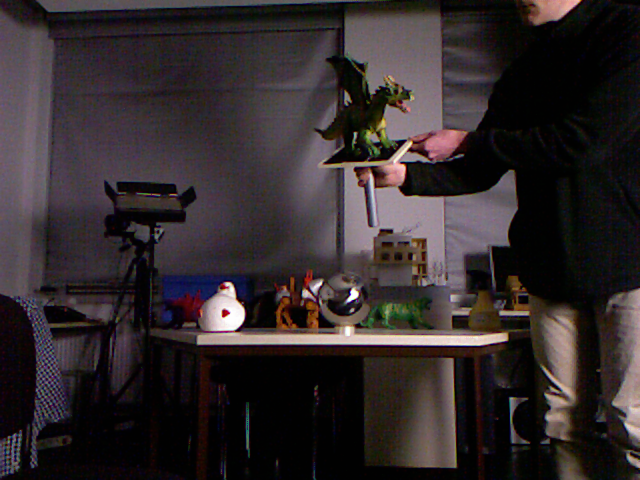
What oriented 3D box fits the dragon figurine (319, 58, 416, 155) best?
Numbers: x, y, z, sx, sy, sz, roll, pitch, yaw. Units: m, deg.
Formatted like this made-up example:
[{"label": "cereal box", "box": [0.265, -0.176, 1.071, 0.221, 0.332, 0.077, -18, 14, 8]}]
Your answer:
[{"label": "dragon figurine", "box": [0.087, -0.349, 1.323, 0.124, 0.239, 0.414, -28, 30, -28]}]
